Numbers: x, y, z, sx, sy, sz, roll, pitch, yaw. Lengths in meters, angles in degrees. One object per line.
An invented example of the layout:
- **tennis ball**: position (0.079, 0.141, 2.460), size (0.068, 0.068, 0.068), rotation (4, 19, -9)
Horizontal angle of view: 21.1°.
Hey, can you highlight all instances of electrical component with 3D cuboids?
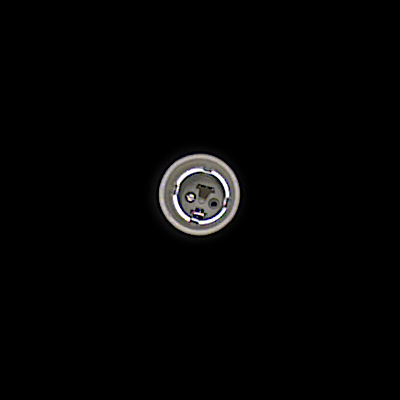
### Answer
- **electrical component**: position (0.000, 0.000, 0.625), size (0.044, 0.044, 0.065), rotation (0, -6, 2)
